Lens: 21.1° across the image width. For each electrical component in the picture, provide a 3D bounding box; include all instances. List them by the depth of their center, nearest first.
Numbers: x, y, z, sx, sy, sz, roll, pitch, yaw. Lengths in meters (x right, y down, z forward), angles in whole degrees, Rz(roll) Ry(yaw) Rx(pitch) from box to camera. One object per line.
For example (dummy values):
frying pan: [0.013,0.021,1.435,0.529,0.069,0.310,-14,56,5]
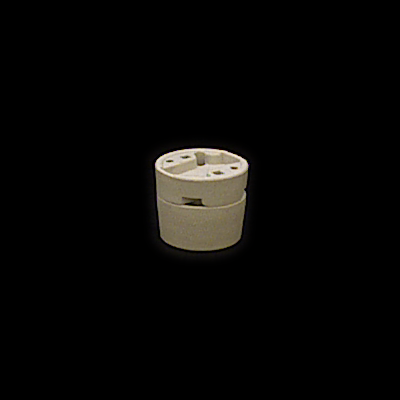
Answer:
electrical component: [0.000,0.000,0.640,0.055,0.047,0.055,1,21,0]
